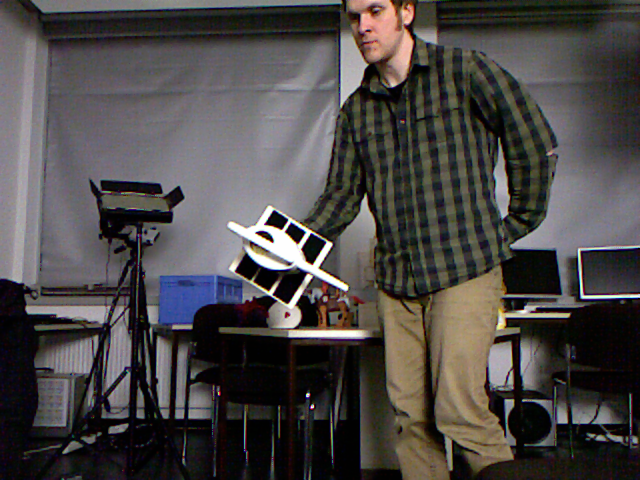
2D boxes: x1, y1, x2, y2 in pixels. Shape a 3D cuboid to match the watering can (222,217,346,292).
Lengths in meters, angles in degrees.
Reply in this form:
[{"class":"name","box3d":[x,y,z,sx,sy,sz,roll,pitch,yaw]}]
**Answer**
[{"class":"watering can","box3d":[-0.084,0.040,1.274,0.349,0.104,0.223,29,-1,10]}]
